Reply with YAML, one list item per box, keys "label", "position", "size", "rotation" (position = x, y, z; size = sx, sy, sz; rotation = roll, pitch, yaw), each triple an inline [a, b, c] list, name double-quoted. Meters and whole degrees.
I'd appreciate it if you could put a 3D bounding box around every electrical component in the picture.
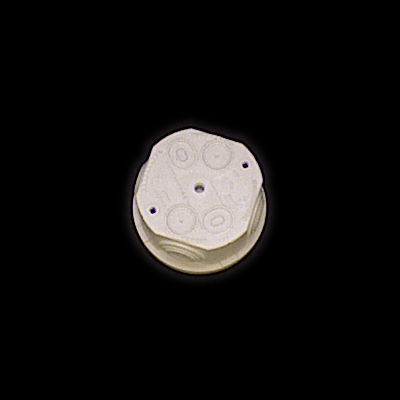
- label: "electrical component"
  position: [0.000, 0.000, 0.632]
  size: [0.080, 0.080, 0.050]
  rotation: [0, -17, -1]
